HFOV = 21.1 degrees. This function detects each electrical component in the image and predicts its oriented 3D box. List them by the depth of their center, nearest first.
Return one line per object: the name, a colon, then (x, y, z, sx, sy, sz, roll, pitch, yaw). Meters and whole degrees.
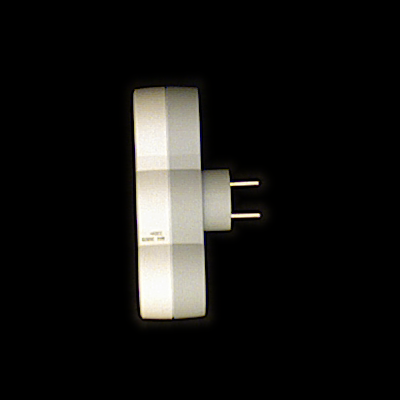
electrical component: (0.000, 0.000, 0.639, 0.074, 0.138, 0.052, -2, -6, -2)
